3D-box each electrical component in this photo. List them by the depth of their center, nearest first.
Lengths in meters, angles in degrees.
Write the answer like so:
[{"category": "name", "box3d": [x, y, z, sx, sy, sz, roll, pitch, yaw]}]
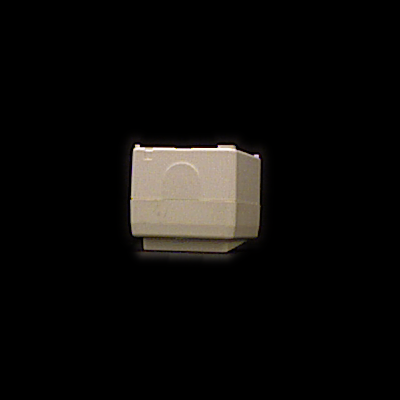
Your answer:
[{"category": "electrical component", "box3d": [0.000, 0.000, 0.651, 0.062, 0.061, 0.096, 1, -1, 14]}]
